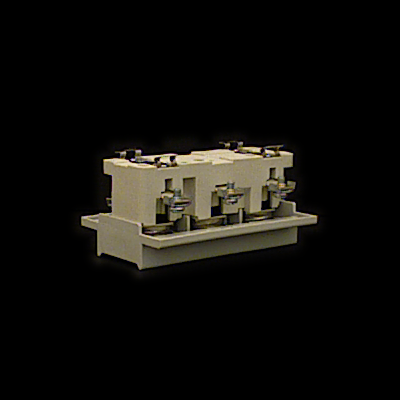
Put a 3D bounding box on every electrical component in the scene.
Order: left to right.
[{"bbox_3d":[0.000,0.000,0.653,0.122,0.063,0.077,-7,13,-39],"label":"electrical component"}]
